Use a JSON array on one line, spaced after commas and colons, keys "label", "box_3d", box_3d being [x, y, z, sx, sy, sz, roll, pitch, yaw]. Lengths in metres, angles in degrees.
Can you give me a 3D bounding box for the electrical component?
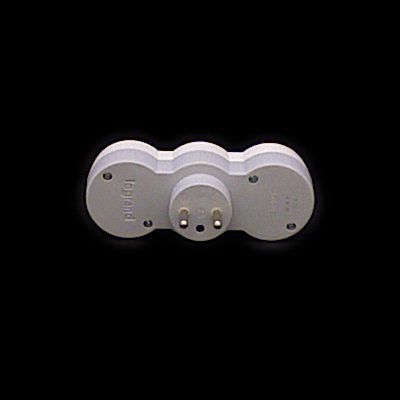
[{"label": "electrical component", "box_3d": [0.000, 0.000, 0.641, 0.138, 0.053, 0.073, 1, 23, -1]}]
